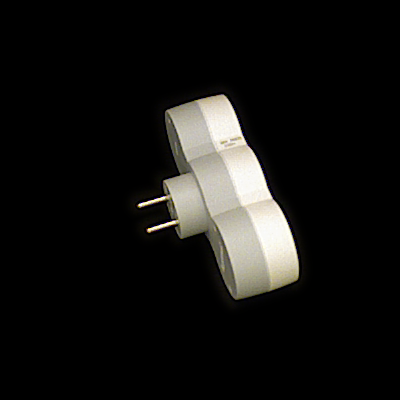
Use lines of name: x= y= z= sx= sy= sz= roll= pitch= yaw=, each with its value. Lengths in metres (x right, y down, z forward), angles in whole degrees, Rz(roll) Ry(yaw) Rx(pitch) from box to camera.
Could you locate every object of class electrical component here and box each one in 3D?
electrical component: x=0.000 y=0.000 z=0.639 sx=0.074 sy=0.137 sz=0.052 roll=-16 pitch=-35 yaw=-10
